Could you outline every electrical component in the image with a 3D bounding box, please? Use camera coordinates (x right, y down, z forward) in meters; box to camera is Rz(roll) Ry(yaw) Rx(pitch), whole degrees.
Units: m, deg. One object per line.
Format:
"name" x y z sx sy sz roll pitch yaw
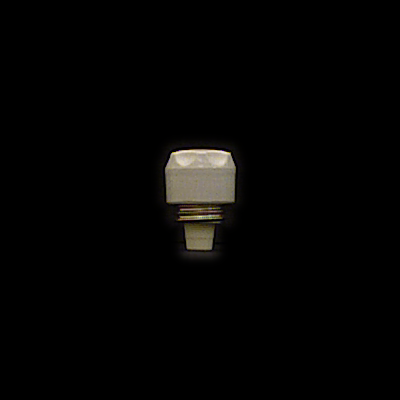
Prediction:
"electrical component" 0.000 0.000 0.656 0.043 0.062 0.043 1 2 1
